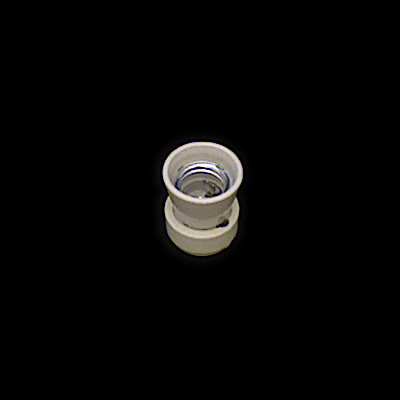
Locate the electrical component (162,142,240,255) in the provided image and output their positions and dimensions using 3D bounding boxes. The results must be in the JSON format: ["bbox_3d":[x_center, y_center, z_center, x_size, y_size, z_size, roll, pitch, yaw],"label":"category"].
[{"bbox_3d":[0.000,0.000,0.631,0.045,0.044,0.055,0,-38,-1],"label":"electrical component"}]
